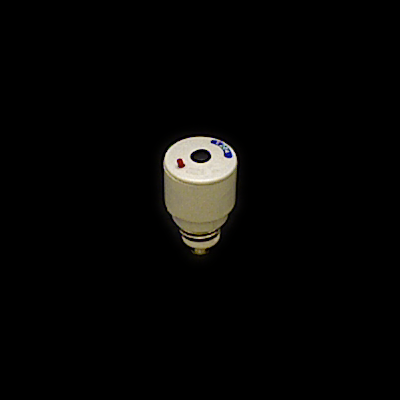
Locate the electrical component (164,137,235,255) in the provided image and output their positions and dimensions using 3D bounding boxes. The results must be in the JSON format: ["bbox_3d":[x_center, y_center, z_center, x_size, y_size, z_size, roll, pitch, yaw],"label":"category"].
[{"bbox_3d":[0.000,0.000,0.623,0.040,0.079,0.039,0,42,0],"label":"electrical component"}]
